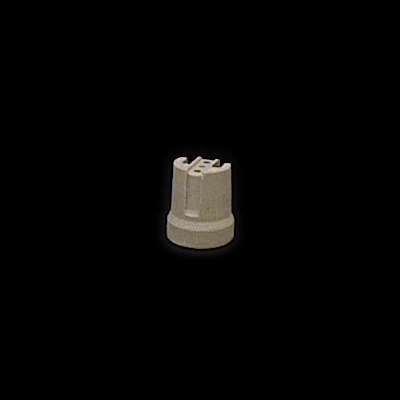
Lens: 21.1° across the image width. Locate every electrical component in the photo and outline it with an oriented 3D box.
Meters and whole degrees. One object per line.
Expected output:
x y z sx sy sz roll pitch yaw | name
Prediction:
0.000 0.000 0.642 0.040 0.046 0.040 1 22 0 | electrical component
